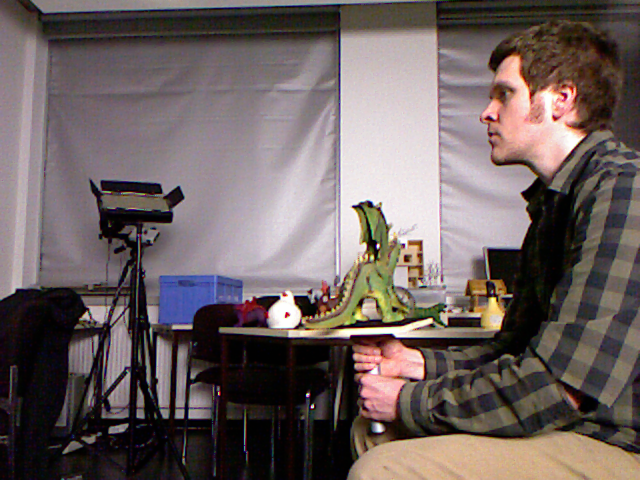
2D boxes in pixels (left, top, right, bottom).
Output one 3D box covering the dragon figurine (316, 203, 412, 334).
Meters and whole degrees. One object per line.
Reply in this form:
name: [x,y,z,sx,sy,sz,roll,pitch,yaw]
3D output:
dragon figurine: [0.095,0.047,1.025,0.122,0.244,0.410,-3,-4,25]
